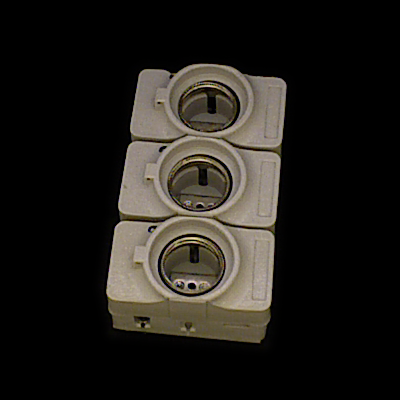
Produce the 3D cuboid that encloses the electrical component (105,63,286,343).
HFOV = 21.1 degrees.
[{"bbox_3d":[0.000,0.000,0.631,0.089,0.149,0.062,5,-27,3],"label":"electrical component"}]
